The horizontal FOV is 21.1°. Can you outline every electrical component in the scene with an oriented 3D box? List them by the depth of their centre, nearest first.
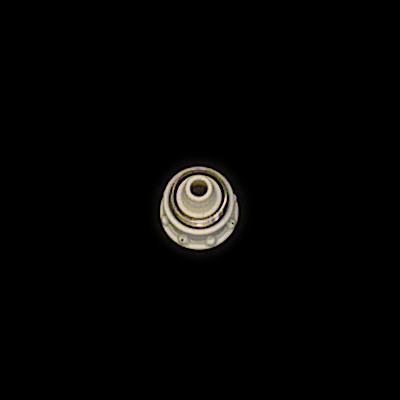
[{"bbox_3d":[0.000,0.000,0.633,0.048,0.048,0.061,0,-15,0],"label":"electrical component"}]
